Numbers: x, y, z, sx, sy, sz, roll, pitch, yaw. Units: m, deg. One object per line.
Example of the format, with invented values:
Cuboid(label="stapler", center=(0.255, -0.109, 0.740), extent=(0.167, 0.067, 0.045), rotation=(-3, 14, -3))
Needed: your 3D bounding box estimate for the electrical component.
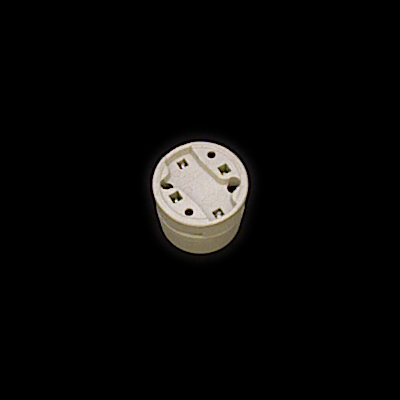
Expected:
Cuboid(label="electrical component", center=(0.000, 0.000, 0.634), extent=(0.055, 0.056, 0.047), rotation=(0, -27, -1))
